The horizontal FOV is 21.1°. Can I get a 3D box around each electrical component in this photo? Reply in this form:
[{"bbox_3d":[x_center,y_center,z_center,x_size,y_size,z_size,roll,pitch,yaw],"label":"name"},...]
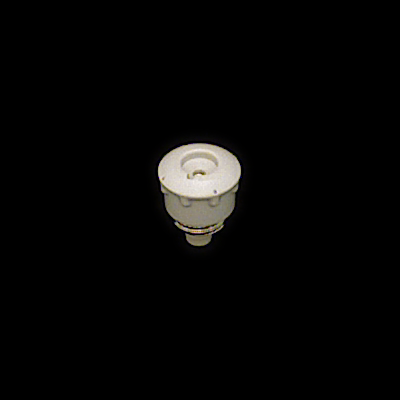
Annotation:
[{"bbox_3d":[0.000,0.000,0.637,0.048,0.062,0.047,0,43,0],"label":"electrical component"}]
